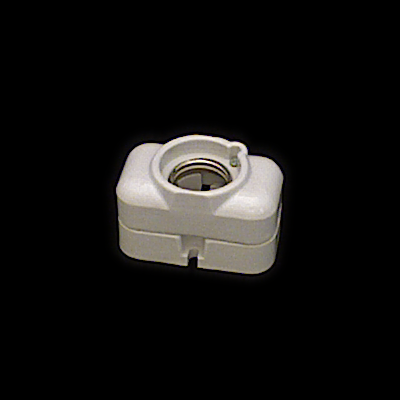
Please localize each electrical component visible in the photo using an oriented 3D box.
[{"bbox_3d":[0.000,0.000,0.639,0.095,0.060,0.053,7,43,6],"label":"electrical component"}]
